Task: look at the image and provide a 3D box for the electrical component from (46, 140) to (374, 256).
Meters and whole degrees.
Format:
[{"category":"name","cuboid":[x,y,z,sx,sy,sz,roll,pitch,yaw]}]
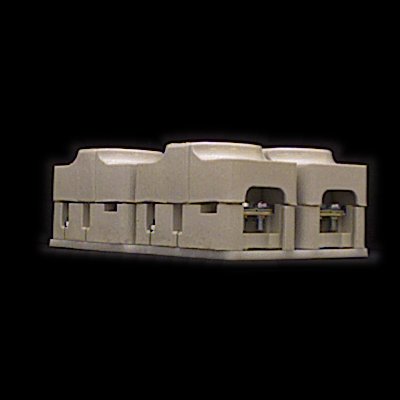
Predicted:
[{"category":"electrical component","cuboid":[0.000,0.000,0.649,0.106,0.060,0.185,1,-1,-38]}]
